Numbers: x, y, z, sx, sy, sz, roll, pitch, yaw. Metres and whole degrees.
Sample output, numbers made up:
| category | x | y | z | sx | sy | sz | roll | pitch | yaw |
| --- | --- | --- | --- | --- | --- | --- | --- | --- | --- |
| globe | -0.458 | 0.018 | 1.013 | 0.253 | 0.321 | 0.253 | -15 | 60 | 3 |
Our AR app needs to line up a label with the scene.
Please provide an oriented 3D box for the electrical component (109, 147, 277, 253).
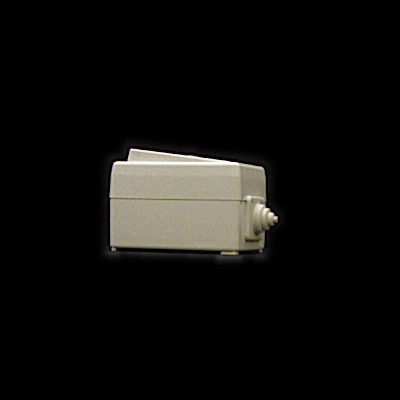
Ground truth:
| category | x | y | z | sx | sy | sz | roll | pitch | yaw |
| --- | --- | --- | --- | --- | --- | --- | --- | --- | --- |
| electrical component | 0.000 | 0.000 | 0.649 | 0.096 | 0.061 | 0.061 | 1 | 0 | 19 |
